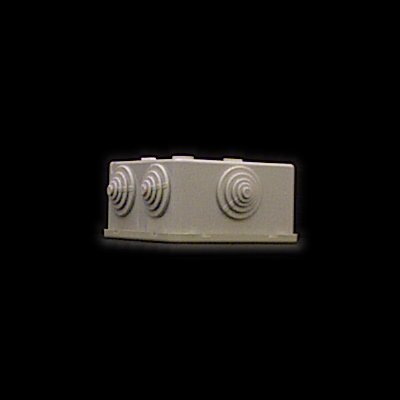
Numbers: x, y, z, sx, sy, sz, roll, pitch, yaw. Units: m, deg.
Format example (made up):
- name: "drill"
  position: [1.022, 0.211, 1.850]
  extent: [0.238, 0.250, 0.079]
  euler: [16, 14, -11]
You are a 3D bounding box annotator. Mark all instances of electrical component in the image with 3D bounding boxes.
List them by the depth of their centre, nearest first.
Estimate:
- name: "electrical component"
  position: [0.000, 0.000, 0.650]
  extent: [0.100, 0.048, 0.099]
  euler: [1, 0, -32]
